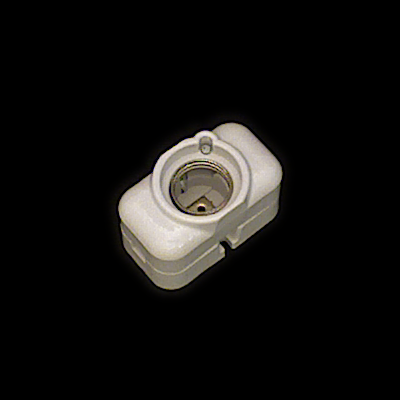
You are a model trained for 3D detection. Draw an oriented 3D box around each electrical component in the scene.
[{"bbox_3d":[0.000,0.000,0.634,0.096,0.053,0.059,-37,-21,-17],"label":"electrical component"}]
